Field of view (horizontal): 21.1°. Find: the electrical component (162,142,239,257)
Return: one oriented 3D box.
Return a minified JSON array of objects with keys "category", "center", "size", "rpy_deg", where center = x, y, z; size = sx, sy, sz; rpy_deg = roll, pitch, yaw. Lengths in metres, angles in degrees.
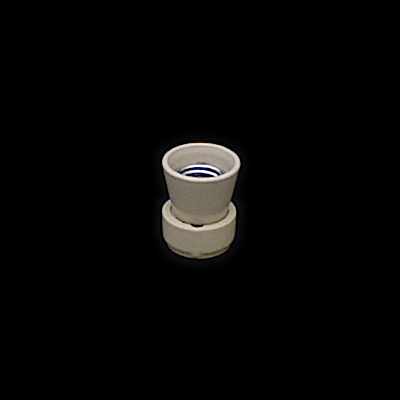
[{"category":"electrical component","center":[0.000,0.000,0.637],"size":[0.045,0.056,0.044],"rpy_deg":[1,32,-1]}]
